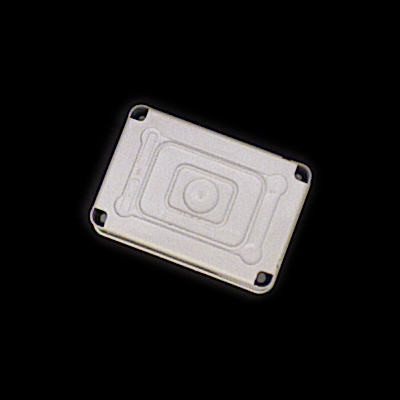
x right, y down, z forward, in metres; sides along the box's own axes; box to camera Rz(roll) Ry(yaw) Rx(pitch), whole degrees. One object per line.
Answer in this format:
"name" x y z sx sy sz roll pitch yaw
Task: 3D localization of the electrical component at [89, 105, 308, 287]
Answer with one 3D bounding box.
"electrical component" 0.000 0.000 0.629 0.113 0.078 0.057 21 -6 3
